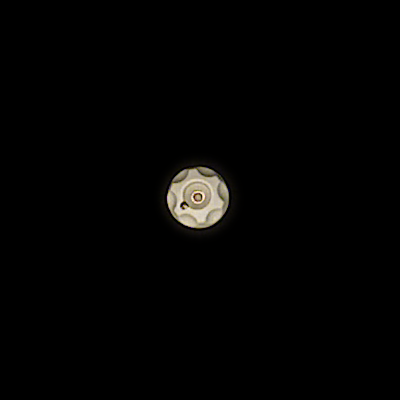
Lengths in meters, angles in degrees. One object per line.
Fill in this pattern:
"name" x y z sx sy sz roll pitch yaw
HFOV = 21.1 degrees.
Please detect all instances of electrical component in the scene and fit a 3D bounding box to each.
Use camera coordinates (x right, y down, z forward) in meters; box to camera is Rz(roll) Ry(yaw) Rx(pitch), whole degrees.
"electrical component" 0.000 0.000 0.634 0.035 0.035 0.061 0 -5 1
